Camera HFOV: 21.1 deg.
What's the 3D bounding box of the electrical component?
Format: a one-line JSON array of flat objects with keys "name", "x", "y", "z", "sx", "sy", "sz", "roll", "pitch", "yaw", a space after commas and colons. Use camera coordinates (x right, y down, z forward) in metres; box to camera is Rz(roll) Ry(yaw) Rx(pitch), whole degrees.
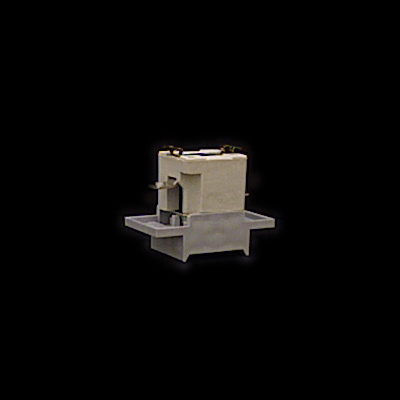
[{"name": "electrical component", "x": 0.000, "y": 0.000, "z": 0.645, "sx": 0.081, "sy": 0.064, "sz": 0.042, "roll": -5, "pitch": 13, "yaw": -30}]
